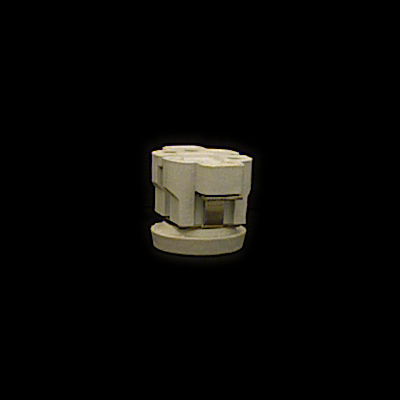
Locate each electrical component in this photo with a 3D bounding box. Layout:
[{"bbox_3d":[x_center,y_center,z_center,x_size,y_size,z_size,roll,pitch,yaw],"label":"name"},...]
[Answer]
[{"bbox_3d":[0.000,0.000,0.650,0.058,0.057,0.077,-3,13,-22],"label":"electrical component"}]
